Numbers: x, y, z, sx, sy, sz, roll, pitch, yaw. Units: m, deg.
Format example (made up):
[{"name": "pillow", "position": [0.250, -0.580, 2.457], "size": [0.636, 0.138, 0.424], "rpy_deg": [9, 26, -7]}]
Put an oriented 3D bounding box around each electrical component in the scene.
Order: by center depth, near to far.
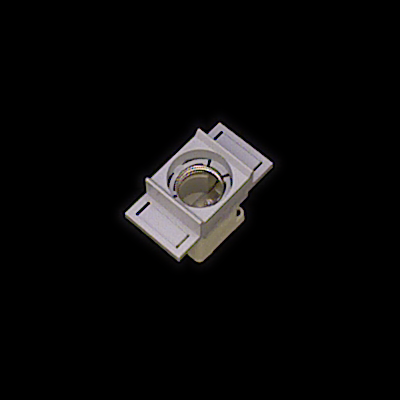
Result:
[{"name": "electrical component", "position": [0.000, 0.000, 0.625], "size": [0.042, 0.081, 0.064], "rpy_deg": [39, -21, 19]}]
